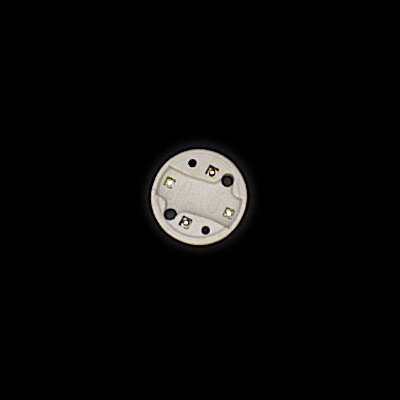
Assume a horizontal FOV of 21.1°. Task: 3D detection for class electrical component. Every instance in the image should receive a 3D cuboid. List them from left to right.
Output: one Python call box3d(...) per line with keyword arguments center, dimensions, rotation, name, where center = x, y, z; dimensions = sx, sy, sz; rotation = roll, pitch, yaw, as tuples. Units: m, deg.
box3d(center=(0.000, 0.000, 0.636), dimensions=(0.055, 0.055, 0.047), rotation=(0, -7, 0), name="electrical component")
